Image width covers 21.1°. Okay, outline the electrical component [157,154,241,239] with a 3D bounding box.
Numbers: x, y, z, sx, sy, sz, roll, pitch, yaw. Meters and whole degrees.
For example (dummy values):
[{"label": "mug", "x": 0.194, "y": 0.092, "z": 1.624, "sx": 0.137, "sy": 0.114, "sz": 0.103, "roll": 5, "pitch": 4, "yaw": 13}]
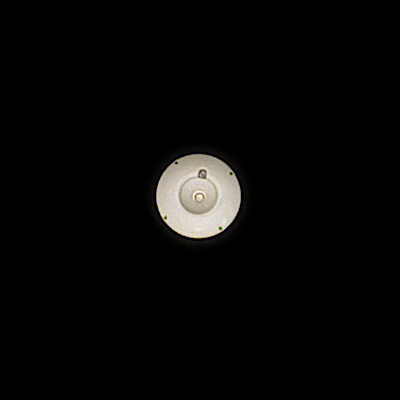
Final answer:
[{"label": "electrical component", "x": 0.000, "y": 0.000, "z": 0.634, "sx": 0.048, "sy": 0.048, "sz": 0.062, "roll": 0, "pitch": -6, "yaw": 1}]
